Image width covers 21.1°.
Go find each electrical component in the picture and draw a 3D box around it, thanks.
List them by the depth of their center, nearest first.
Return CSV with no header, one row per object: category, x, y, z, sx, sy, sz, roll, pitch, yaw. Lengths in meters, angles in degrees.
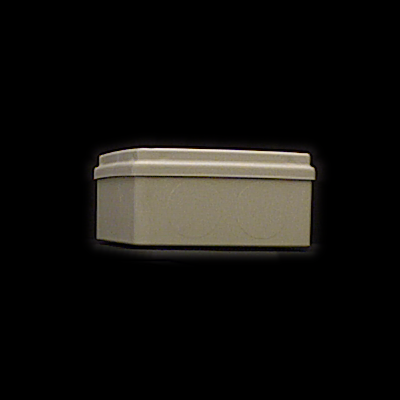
electrical component,0.000,0.000,0.648,0.109,0.056,0.108,1,0,-19
